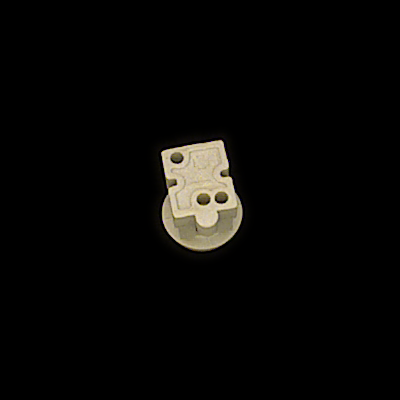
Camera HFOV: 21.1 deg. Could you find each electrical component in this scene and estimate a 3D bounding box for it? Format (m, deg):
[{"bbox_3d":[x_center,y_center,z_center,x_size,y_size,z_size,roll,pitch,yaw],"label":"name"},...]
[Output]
[{"bbox_3d":[0.000,0.000,0.637,0.048,0.066,0.055,-10,-27,-3],"label":"electrical component"}]
